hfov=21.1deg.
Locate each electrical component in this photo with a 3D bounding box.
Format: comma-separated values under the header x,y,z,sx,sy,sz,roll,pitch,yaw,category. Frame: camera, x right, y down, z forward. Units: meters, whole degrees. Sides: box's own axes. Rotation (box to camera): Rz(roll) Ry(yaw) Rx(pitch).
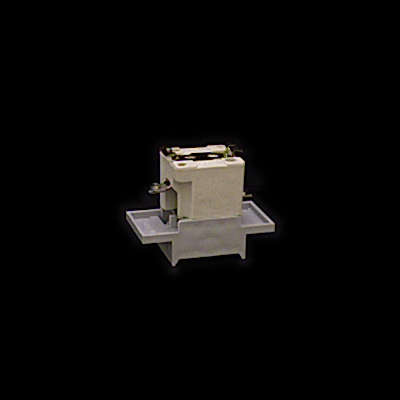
x,y,z,sx,sy,sz,roll,pitch,yaw,category
0.000,0.000,0.639,0.081,0.064,0.041,-6,22,-17,electrical component
